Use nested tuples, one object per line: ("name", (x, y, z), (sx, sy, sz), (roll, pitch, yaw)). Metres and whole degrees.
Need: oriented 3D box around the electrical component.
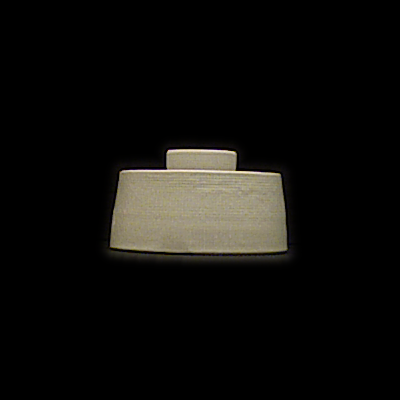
("electrical component", (0.000, 0.000, 0.655), (0.108, 0.060, 0.108), (1, 1, 1))
